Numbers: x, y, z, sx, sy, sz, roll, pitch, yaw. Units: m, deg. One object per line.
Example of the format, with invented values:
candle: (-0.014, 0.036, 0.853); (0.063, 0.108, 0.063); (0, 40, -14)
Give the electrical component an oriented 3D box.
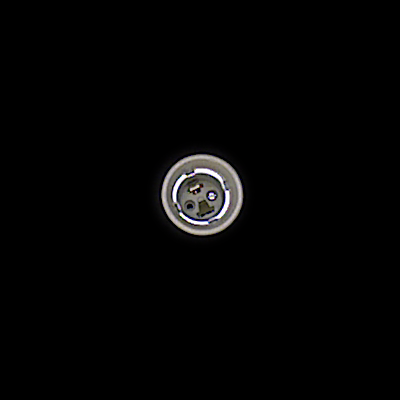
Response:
electrical component: (0.000, 0.000, 0.625); (0.044, 0.044, 0.065); (0, -7, 0)
